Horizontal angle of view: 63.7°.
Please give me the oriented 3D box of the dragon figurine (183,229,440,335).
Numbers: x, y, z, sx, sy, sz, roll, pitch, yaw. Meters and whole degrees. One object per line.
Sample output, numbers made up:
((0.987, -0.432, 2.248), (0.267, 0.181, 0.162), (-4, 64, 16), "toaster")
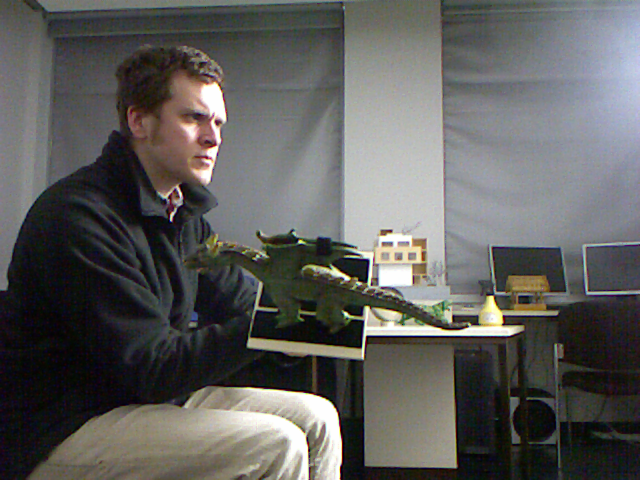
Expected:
((-0.005, 0.058, 0.807), (0.412, 0.125, 0.239), (5, -23, 6), "dragon figurine")
